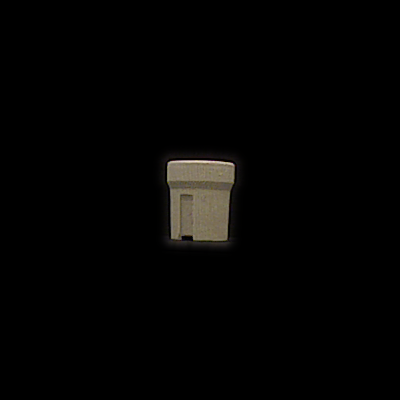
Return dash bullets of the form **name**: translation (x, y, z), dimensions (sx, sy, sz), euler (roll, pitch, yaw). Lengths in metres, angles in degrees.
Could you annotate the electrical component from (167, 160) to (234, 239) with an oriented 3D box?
- **electrical component**: translation (0.000, 0.000, 0.651), dimensions (0.040, 0.046, 0.040), euler (1, 1, 0)
